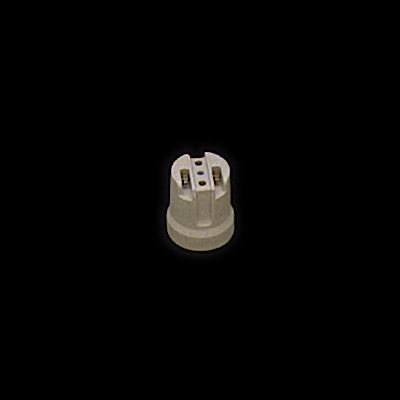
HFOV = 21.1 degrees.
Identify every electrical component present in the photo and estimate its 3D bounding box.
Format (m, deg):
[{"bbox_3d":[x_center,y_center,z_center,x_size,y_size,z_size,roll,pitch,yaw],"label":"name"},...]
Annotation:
[{"bbox_3d":[0.000,0.000,0.635,0.040,0.046,0.040,0,42,0],"label":"electrical component"}]
